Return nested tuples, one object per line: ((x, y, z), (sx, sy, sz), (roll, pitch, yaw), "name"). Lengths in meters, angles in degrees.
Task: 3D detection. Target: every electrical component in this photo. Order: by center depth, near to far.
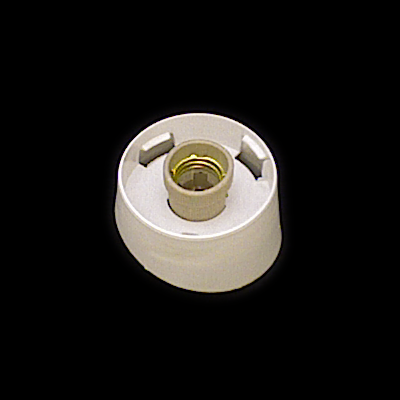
((0.000, 0.000, 0.626), (0.099, 0.098, 0.064), (0, -37, -1), "electrical component")
